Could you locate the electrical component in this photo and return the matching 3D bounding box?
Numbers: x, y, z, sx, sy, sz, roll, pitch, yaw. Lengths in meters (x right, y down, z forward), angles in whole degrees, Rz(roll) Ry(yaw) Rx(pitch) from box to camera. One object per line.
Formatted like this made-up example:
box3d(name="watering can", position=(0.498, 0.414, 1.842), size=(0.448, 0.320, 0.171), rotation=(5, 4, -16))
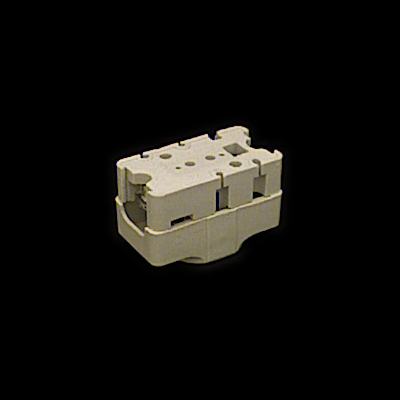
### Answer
box3d(name="electrical component", position=(0.000, 0.000, 0.643), size=(0.090, 0.056, 0.049), rotation=(-18, 36, -28))
